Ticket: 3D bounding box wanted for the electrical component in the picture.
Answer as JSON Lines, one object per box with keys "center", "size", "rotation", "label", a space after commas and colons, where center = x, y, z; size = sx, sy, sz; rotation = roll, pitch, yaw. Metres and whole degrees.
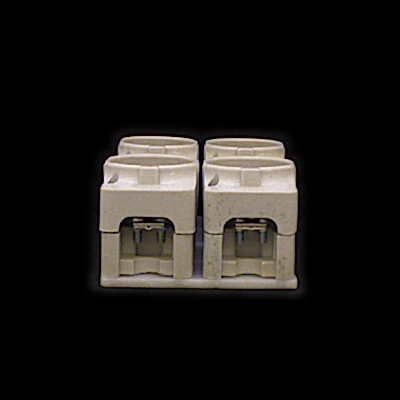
{"center": [0.000, 0.000, 0.644], "size": [0.105, 0.061, 0.184], "rotation": [1, 10, 0], "label": "electrical component"}
